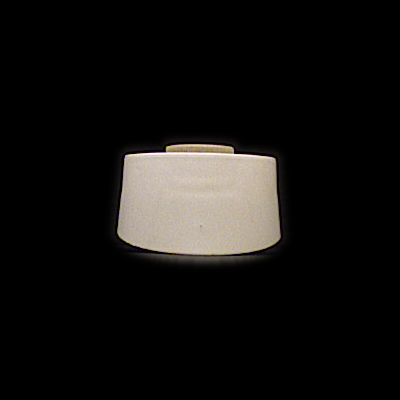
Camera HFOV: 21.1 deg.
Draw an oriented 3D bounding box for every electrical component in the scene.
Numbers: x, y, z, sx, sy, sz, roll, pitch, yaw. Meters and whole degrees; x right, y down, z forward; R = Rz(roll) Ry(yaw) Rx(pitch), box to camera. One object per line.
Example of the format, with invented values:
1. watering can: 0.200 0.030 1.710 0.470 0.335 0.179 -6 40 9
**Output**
1. electrical component: 0.000 0.000 0.650 0.099 0.064 0.099 1 0 0
